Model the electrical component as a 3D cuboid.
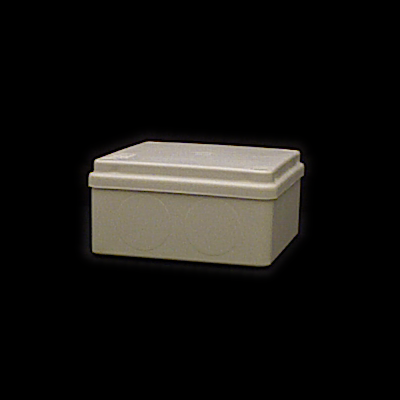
[{"bbox_3d":[0.000,0.000,0.645,0.108,0.056,0.108,4,11,14],"label":"electrical component"}]
